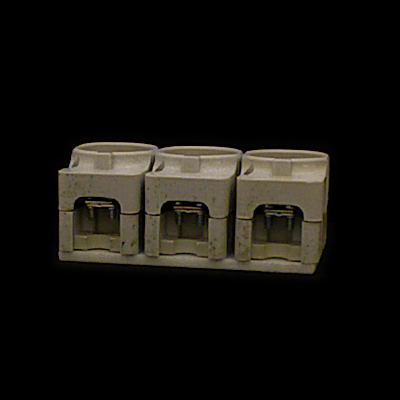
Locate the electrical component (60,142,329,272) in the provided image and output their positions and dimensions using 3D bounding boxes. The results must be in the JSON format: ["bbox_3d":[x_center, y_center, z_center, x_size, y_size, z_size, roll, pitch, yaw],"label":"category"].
[{"bbox_3d":[0.000,0.000,0.649,0.150,0.062,0.088,2,11,10],"label":"electrical component"}]
